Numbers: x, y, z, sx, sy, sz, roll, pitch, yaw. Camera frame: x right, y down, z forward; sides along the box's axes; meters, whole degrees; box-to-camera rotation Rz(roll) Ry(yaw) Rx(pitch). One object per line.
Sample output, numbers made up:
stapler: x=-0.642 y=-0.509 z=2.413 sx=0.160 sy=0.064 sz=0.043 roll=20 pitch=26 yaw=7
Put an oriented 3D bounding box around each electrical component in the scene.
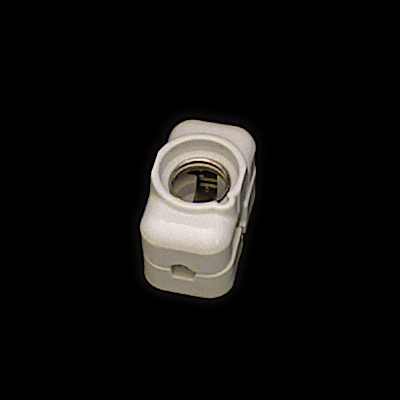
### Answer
electrical component: x=0.000 y=0.000 z=0.635 sx=0.053 sy=0.095 sz=0.059 roll=10 pitch=-36 yaw=8
